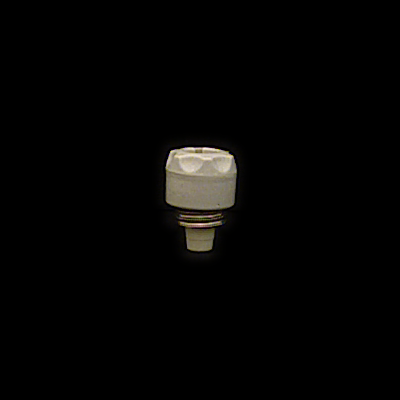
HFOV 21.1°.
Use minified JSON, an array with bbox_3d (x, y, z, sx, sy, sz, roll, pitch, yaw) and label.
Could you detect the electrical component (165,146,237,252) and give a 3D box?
[{"bbox_3d":[0.000,0.000,0.650,0.043,0.062,0.043,2,13,0],"label":"electrical component"}]
